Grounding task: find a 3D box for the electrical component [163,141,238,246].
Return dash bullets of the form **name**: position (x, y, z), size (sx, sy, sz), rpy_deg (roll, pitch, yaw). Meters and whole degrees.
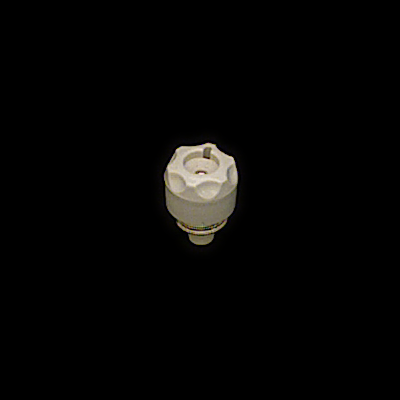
- **electrical component**: position (0.000, 0.000, 0.637), size (0.043, 0.062, 0.043), rpy_deg (0, 43, 0)
